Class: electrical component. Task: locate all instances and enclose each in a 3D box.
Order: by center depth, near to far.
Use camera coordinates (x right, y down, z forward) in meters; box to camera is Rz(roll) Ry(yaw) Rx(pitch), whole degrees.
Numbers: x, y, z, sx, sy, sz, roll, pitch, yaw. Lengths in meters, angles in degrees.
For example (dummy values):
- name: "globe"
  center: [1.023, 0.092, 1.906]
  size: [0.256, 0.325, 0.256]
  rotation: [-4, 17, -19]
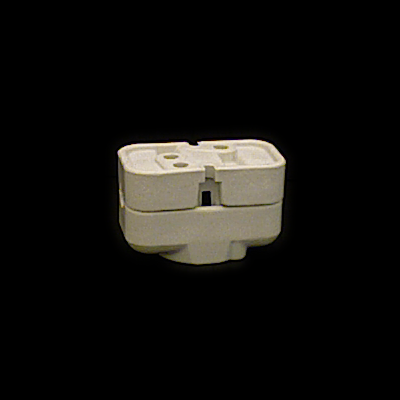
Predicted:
- name: "electrical component"
  center: [0.000, 0.000, 0.644]
  size: [0.095, 0.060, 0.053]
  rotation: [-3, 22, -12]
